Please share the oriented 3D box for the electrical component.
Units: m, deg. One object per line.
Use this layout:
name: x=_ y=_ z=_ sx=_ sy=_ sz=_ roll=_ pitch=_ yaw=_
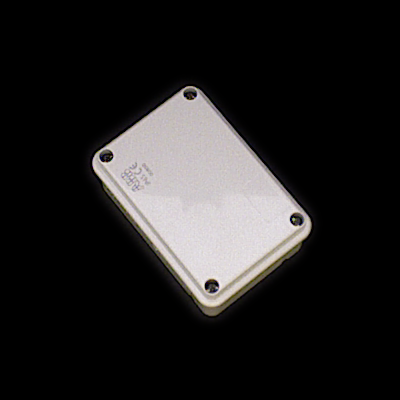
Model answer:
electrical component: x=0.000 y=0.000 z=0.626 sx=0.078 sy=0.113 sz=0.057 roll=-37 pitch=-13 yaw=-10
